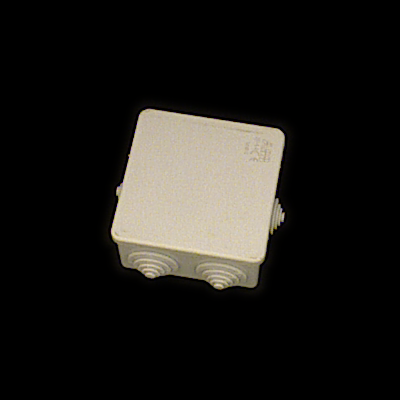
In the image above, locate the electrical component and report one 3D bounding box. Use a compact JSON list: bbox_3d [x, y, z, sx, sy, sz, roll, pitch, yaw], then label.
[{"bbox_3d":[0.000,0.000,0.641,0.099,0.100,0.048,9,-26,4],"label":"electrical component"}]
